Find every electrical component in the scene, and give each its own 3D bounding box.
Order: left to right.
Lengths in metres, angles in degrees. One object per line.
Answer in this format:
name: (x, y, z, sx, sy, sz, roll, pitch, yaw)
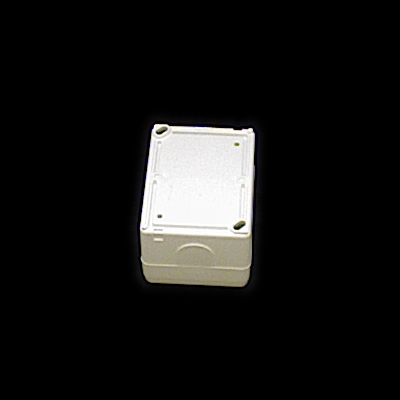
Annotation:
electrical component: (0.000, 0.000, 0.632, 0.062, 0.095, 0.061, 2, -38, 2)
